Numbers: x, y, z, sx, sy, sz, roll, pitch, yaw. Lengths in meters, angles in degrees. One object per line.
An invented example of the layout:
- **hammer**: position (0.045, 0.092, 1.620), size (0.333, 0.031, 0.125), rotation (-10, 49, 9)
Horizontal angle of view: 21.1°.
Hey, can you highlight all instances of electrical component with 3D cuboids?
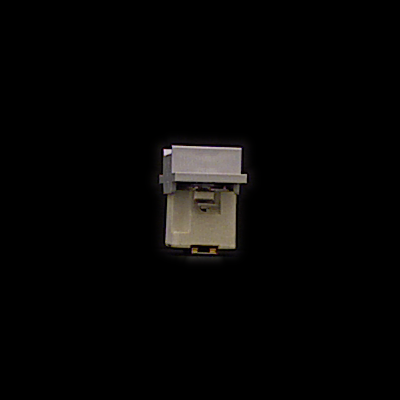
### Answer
- **electrical component**: position (0.000, 0.000, 0.652), size (0.042, 0.064, 0.080), rotation (0, 1, -8)
